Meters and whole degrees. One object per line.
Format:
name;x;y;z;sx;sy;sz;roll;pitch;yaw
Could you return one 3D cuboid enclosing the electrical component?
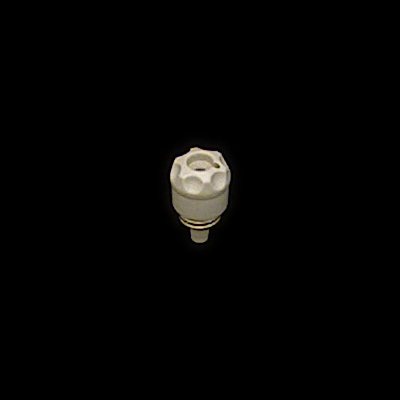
electrical component;0.000;0.000;0.636;0.035;0.062;0.035;1;43;0
